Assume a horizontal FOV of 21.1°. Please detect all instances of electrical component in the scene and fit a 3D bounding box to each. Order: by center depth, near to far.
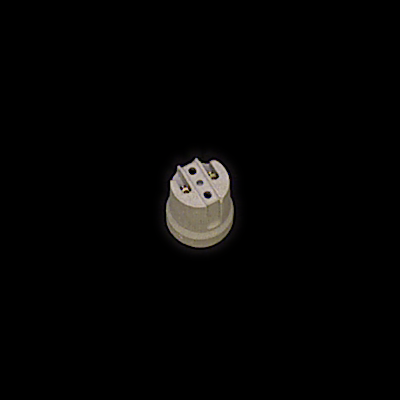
[{"bbox_3d":[0.000,0.000,0.634,0.040,0.040,0.046,0,-27,-1],"label":"electrical component"}]
